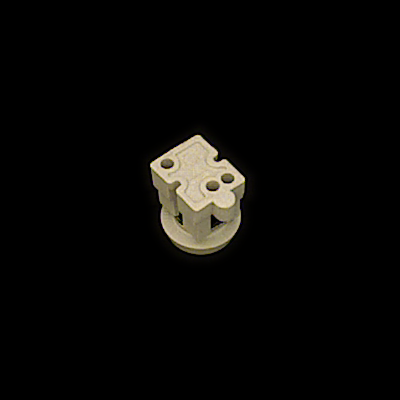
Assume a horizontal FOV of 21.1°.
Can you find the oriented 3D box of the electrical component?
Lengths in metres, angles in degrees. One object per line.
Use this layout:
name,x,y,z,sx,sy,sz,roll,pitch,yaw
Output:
electrical component,0.000,0.000,0.638,0.048,0.066,0.055,-33,-31,-21
